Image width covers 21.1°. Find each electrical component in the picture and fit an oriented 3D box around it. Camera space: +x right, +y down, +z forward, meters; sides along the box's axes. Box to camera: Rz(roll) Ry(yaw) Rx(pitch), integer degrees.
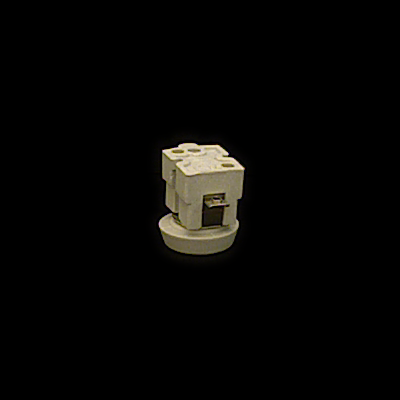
[{"bbox_3d":[0.000,0.000,0.647,0.049,0.056,0.065,-6,24,-20],"label":"electrical component"}]
